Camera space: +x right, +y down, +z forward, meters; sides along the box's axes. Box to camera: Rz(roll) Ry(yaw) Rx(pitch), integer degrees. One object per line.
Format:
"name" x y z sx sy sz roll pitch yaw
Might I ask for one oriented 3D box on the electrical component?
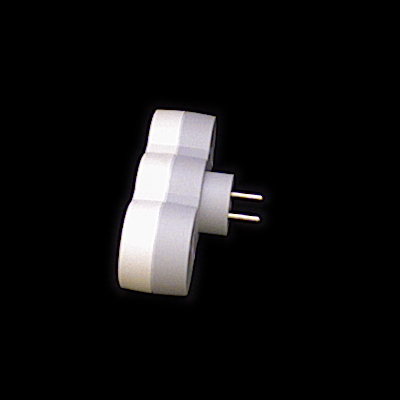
"electrical component" 0.000 0.000 0.636 0.074 0.052 0.137 7 42 4
